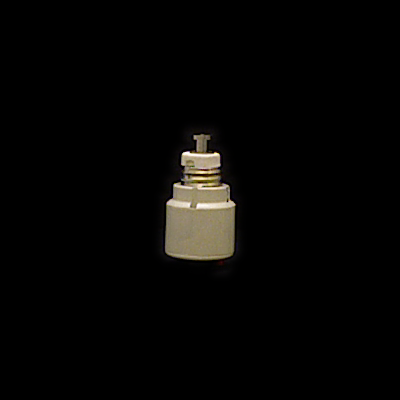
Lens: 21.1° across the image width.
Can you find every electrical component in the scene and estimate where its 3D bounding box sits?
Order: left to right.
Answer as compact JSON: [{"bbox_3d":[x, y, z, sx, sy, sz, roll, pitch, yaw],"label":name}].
[{"bbox_3d":[0.000,0.000,0.640,0.040,0.079,0.040,1,10,0],"label":"electrical component"}]
